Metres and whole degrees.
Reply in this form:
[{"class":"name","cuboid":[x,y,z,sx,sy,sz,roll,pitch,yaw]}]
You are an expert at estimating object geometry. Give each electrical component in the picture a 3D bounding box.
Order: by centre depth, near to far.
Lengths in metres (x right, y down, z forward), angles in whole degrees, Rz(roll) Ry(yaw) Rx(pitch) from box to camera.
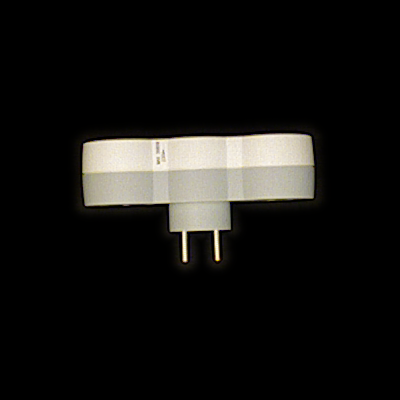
[{"class":"electrical component","cuboid":[0.000,0.000,0.639,0.138,0.074,0.052,-2,-4,0]}]
